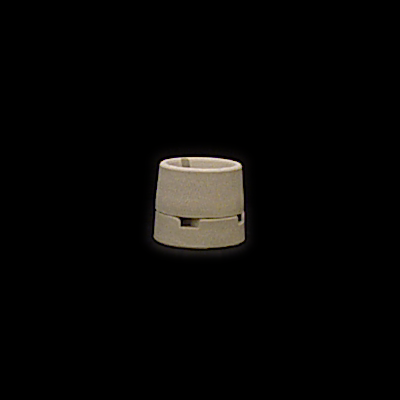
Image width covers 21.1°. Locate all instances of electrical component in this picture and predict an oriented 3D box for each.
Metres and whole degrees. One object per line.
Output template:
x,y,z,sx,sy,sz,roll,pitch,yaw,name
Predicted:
0.000,0.000,0.644,0.055,0.047,0.055,1,12,0,electrical component
